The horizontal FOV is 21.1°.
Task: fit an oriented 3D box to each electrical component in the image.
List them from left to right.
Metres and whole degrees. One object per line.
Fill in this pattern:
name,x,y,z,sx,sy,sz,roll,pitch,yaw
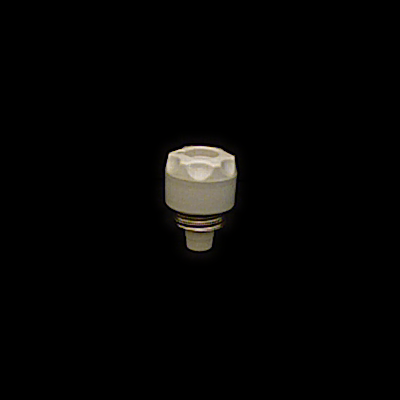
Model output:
electrical component,0.000,0.000,0.646,0.043,0.063,0.043,2,22,0
